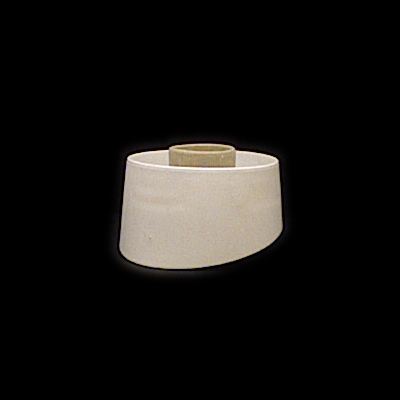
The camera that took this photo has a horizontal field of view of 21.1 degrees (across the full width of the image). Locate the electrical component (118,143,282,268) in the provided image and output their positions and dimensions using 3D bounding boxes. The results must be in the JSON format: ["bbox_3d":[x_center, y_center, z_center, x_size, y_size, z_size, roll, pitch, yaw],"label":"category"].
[{"bbox_3d":[0.000,0.000,0.644,0.099,0.064,0.098,1,11,0],"label":"electrical component"}]
